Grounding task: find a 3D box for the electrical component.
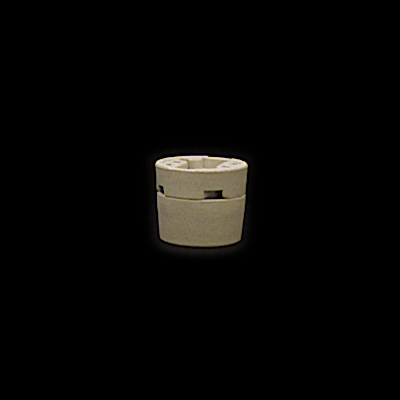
[{"bbox_3d":[0.000,0.000,0.644,0.055,0.047,0.055,1,11,0],"label":"electrical component"}]
